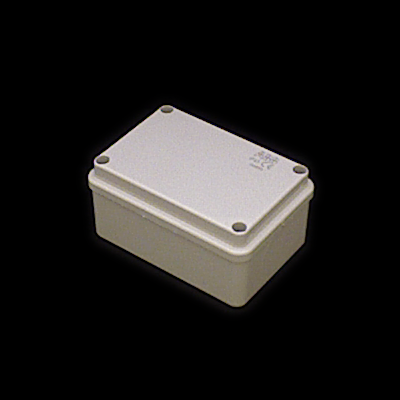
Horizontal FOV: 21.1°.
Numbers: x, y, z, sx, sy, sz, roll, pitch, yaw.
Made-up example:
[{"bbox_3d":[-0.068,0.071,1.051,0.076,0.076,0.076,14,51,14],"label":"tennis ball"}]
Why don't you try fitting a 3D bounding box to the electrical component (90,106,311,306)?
[{"bbox_3d":[0.000,0.000,0.632,0.112,0.057,0.078,26,48,26],"label":"electrical component"}]
